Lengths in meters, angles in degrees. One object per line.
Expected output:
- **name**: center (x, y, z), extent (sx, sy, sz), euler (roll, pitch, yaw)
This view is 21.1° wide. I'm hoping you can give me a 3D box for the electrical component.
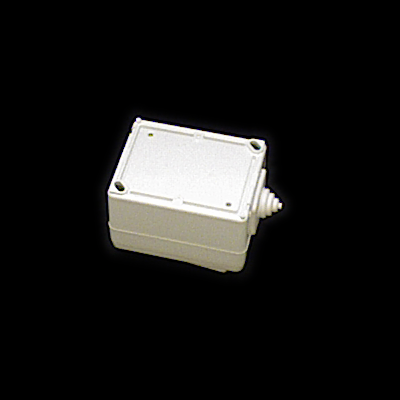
- **electrical component**: center (0.000, 0.000, 0.628), extent (0.096, 0.061, 0.061), euler (11, -38, 8)
